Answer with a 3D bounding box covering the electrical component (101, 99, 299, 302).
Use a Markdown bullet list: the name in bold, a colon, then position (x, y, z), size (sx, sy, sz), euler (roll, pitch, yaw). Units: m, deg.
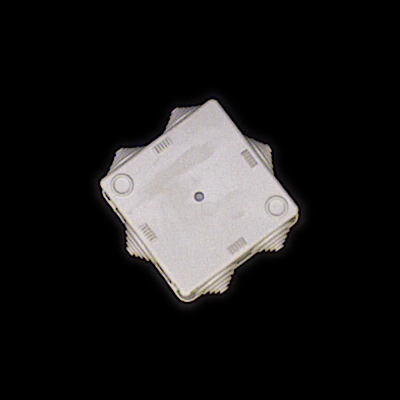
- **electrical component**: position (0.000, 0.000, 0.632), size (0.100, 0.100, 0.048), euler (-37, -5, -4)
